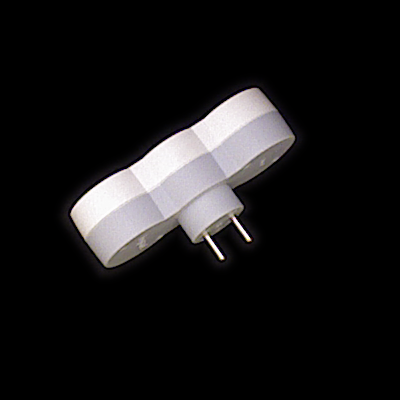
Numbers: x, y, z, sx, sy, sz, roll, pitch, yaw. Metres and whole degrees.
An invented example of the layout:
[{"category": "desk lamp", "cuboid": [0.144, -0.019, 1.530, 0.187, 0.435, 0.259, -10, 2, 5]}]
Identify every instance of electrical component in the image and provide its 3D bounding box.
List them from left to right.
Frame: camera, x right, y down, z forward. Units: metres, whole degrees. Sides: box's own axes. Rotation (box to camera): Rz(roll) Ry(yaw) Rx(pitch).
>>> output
[{"category": "electrical component", "cuboid": [0.000, 0.000, 0.631, 0.138, 0.074, 0.052, -34, -12, -10]}]
